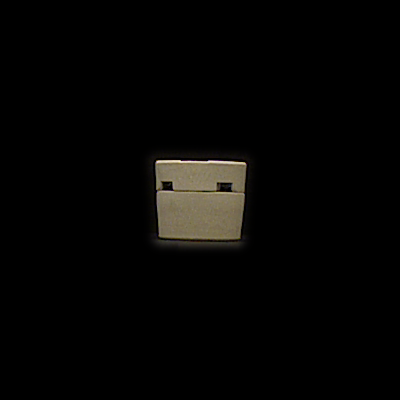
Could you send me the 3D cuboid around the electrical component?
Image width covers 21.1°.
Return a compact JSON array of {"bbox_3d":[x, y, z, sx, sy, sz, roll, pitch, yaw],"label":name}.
[{"bbox_3d":[0.000,0.000,0.649,0.055,0.047,0.055,1,0,0],"label":"electrical component"}]
